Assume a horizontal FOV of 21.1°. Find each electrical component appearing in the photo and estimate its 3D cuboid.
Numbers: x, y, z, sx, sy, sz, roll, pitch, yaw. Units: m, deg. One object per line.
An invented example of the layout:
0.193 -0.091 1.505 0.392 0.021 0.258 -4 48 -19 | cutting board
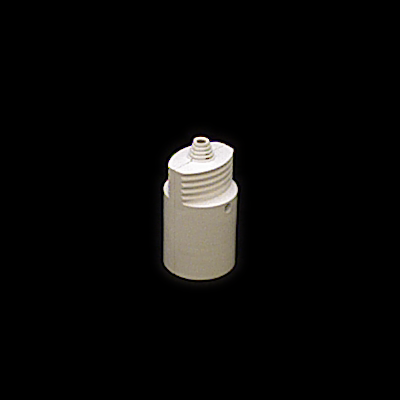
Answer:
0.000 0.000 0.628 0.043 0.082 0.042 1 31 0 | electrical component
